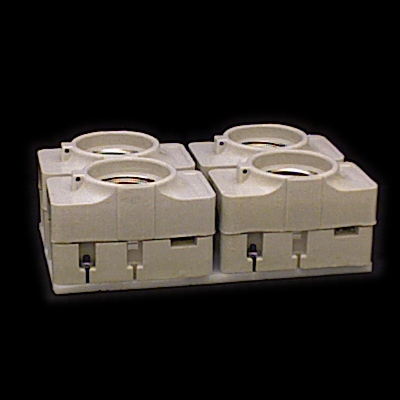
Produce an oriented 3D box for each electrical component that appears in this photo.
[{"bbox_3d":[0.000,0.000,0.637,0.186,0.061,0.104,-4,21,-12],"label":"electrical component"}]
